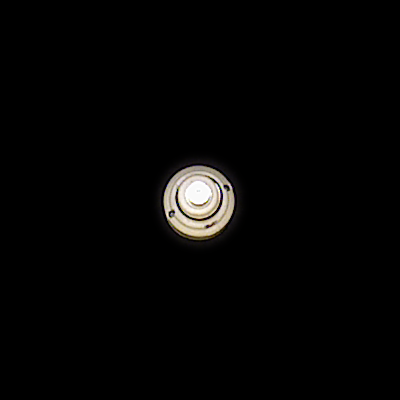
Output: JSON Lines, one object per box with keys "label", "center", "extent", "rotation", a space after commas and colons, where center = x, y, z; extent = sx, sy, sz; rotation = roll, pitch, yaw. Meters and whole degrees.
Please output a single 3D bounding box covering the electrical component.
{"label": "electrical component", "center": [0.000, 0.000, 0.618], "extent": [0.040, 0.040, 0.078], "rotation": [0, -7, 0]}
